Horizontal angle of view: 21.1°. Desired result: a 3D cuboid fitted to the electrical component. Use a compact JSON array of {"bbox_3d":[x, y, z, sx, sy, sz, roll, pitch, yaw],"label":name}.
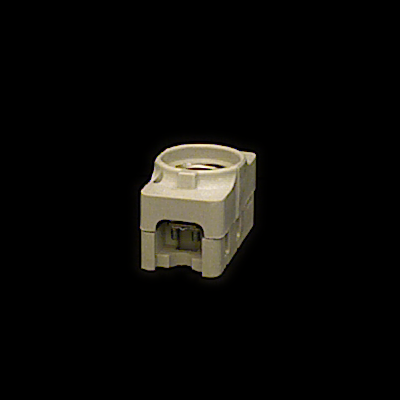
[{"bbox_3d":[0.000,0.000,0.646,0.050,0.056,0.089,7,22,14],"label":"electrical component"}]
